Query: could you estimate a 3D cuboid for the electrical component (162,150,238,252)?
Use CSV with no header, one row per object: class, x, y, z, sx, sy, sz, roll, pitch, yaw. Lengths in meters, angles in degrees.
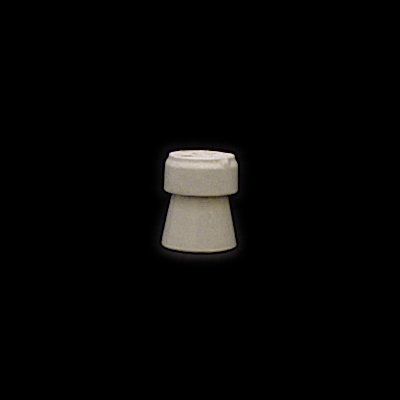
electrical component,0.000,0.000,0.646,0.045,0.055,0.044,2,11,0
